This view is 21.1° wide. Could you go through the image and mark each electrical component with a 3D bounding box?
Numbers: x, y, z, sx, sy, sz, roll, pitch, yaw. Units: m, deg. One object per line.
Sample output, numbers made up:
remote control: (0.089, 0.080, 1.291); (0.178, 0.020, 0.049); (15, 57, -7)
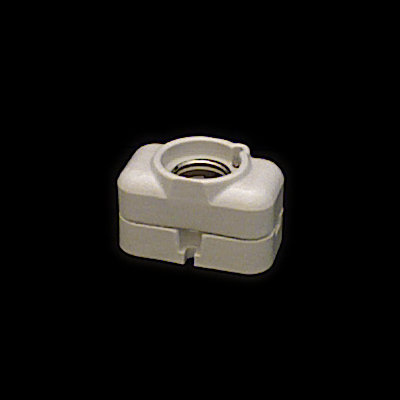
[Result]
electrical component: (0.000, 0.000, 0.642); (0.095, 0.060, 0.053); (9, 34, 12)
